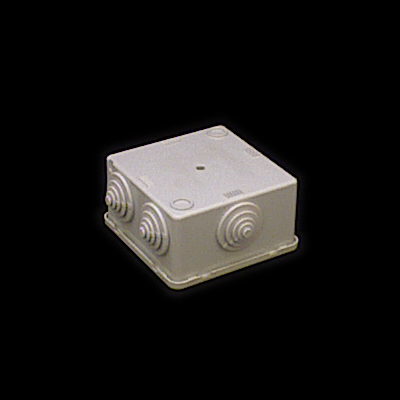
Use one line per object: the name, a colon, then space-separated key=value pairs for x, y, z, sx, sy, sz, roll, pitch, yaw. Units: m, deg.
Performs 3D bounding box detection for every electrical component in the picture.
electrical component: x=0.000 y=0.000 z=0.638 sx=0.100 sy=0.049 sz=0.098 roll=-17 pitch=36 yaw=-27
